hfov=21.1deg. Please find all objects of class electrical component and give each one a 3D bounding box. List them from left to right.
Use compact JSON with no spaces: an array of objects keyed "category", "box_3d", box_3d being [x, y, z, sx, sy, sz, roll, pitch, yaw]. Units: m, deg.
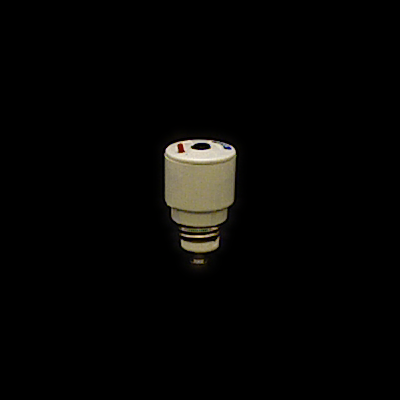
[{"category":"electrical component","box_3d":[0.000,0.000,0.634,0.040,0.079,0.039,1,22,0]}]
